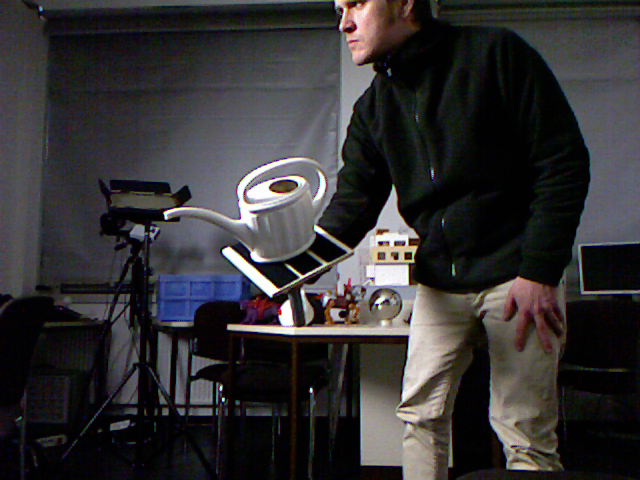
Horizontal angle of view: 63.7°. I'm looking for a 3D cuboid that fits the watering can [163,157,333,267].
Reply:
[{"bbox_3d":[-0.121,-0.040,1.022,0.350,0.219,0.105,-24,39,-22],"label":"watering can"}]
